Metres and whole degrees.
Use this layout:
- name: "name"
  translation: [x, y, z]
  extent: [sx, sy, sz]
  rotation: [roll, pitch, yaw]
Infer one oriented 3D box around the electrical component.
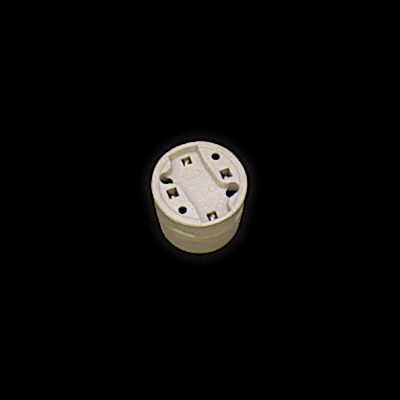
- name: "electrical component"
  translation: [0.000, 0.000, 0.634]
  extent: [0.055, 0.056, 0.047]
  rotation: [0, -27, 0]
